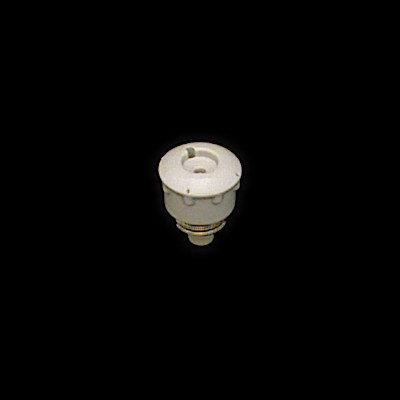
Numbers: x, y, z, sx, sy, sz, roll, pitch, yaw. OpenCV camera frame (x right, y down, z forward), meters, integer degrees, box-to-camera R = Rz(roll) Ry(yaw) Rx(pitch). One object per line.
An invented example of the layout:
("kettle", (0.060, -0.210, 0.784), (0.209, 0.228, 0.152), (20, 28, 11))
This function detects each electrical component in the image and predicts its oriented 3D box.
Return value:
("electrical component", (0.000, 0.000, 0.637), (0.048, 0.062, 0.047), (1, 42, 0))
